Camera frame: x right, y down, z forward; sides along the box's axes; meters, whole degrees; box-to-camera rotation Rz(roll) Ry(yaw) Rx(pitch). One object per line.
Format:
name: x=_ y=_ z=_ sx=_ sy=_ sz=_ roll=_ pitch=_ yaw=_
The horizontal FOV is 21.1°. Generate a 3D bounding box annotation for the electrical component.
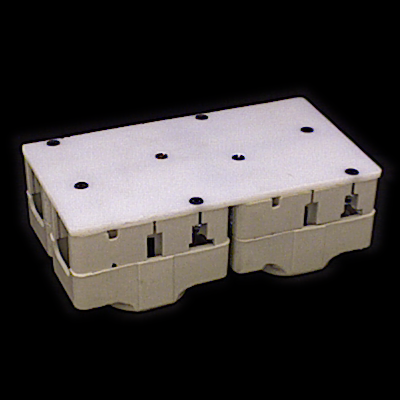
electrical component: x=0.000 y=0.000 z=0.634 sx=0.186 sy=0.061 sz=0.104 roll=-11 pitch=33 yaw=-20
